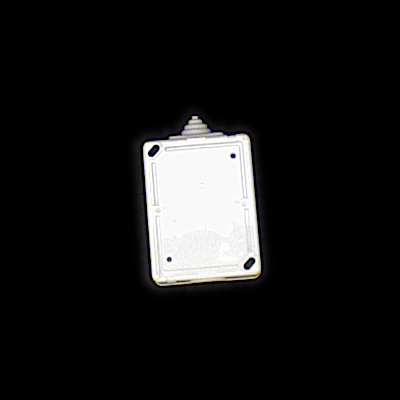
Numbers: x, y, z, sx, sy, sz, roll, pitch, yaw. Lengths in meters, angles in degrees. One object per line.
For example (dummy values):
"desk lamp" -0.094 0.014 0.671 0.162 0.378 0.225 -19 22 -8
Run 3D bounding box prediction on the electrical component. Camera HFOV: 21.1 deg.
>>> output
"electrical component" 0.000 0.000 0.627 0.062 0.096 0.061 -5 -7 1
